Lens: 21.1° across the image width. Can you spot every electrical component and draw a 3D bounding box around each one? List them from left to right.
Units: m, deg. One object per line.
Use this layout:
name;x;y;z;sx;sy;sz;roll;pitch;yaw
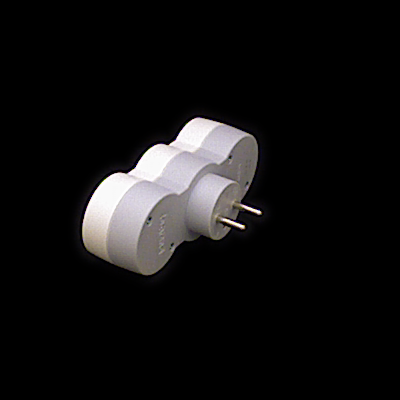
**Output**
electrical component;0.000;0.000;0.639;0.073;0.053;0.137;21;36;25
